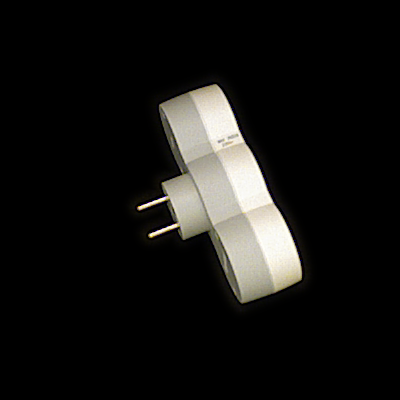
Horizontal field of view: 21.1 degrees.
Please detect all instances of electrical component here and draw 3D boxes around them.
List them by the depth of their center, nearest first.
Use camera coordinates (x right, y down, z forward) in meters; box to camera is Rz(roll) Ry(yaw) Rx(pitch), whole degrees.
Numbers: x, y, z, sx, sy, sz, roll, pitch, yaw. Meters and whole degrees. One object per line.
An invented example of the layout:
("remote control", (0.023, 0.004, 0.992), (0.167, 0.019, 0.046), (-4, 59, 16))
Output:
("electrical component", (0.000, 0.000, 0.638), (0.074, 0.137, 0.052), (-20, -25, -8))
